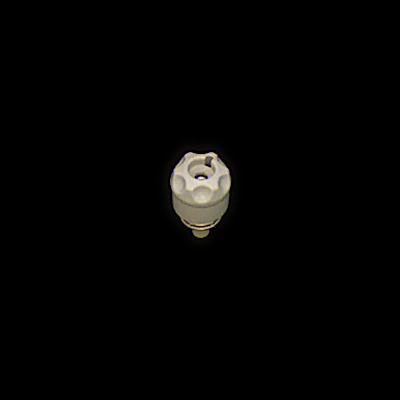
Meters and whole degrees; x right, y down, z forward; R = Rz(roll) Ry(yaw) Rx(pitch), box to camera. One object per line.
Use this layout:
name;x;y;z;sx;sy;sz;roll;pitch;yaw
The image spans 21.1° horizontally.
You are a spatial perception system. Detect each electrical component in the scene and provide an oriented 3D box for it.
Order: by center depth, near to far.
electrical component;0.000;0.000;0.636;0.035;0.035;0.062;0;-37;0
